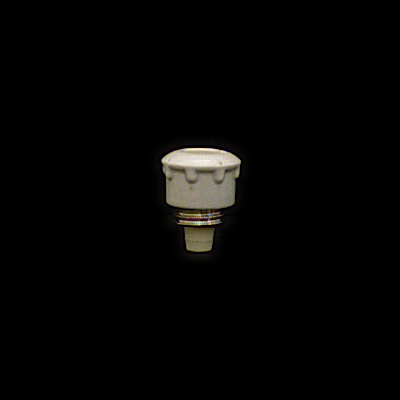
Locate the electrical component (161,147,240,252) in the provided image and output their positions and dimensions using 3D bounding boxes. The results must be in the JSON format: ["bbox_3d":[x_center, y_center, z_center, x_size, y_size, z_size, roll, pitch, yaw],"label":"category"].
[{"bbox_3d":[0.000,0.000,0.654,0.048,0.062,0.048,1,11,0],"label":"electrical component"}]
